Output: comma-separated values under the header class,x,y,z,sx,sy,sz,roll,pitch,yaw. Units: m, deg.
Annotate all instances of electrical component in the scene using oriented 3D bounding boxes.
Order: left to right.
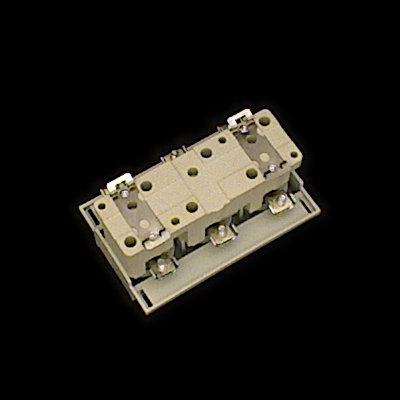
class,x,y,z,sx,sy,sz,roll,pitch,yaw
electrical component,0.000,0.000,0.633,0.122,0.078,0.063,-30,-22,-14
